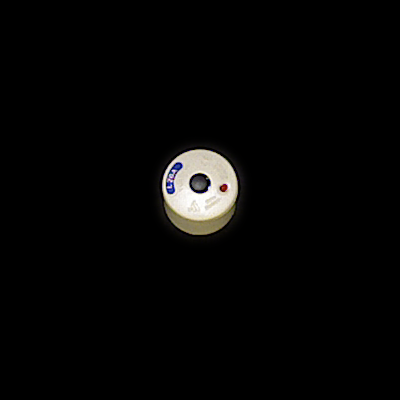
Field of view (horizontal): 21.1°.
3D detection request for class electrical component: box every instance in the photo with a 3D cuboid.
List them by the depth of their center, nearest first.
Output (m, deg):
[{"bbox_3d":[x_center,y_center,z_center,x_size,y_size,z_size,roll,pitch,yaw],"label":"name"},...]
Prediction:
[{"bbox_3d":[0.000,0.000,0.616,0.040,0.040,0.078,0,-17,-1],"label":"electrical component"}]
